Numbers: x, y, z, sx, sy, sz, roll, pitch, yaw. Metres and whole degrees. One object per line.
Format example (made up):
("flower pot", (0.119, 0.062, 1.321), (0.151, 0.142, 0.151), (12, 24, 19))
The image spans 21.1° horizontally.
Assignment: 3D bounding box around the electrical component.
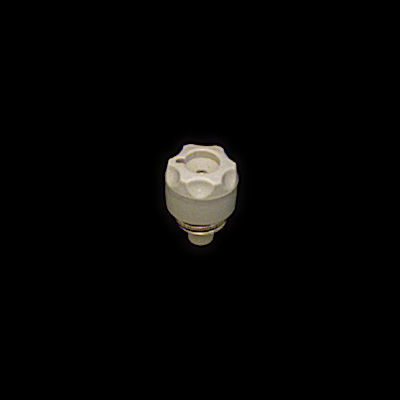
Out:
("electrical component", (0.000, 0.000, 0.638), (0.043, 0.062, 0.043), (1, 42, 0))
